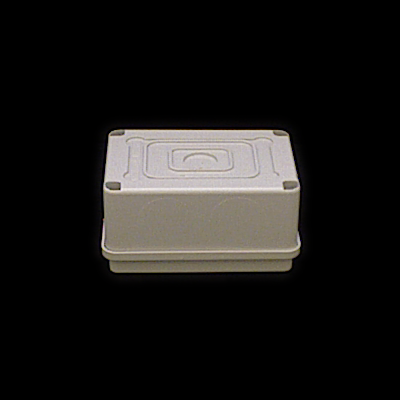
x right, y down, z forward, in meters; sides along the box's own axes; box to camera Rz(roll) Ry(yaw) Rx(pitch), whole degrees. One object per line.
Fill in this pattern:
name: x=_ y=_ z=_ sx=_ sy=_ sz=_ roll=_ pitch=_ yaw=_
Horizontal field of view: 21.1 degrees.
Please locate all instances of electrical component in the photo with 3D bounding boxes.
electrical component: x=0.000 y=0.000 z=0.635 sx=0.113 sy=0.058 sz=0.077 roll=-1 pitch=31 yaw=-2
